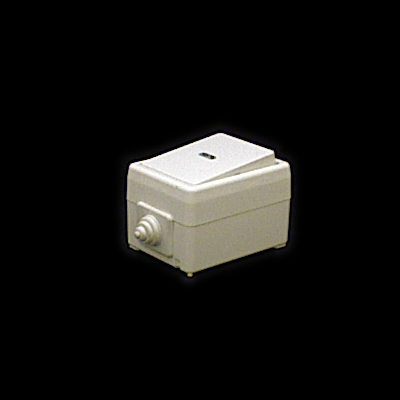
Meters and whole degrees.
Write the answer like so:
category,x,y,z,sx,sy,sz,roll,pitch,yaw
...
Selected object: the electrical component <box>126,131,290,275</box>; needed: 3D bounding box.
category,x,y,z,sx,sy,sz,roll,pitch,yaw
electrical component,0.000,0.000,0.637,0.096,0.061,0.061,-16,26,-37
